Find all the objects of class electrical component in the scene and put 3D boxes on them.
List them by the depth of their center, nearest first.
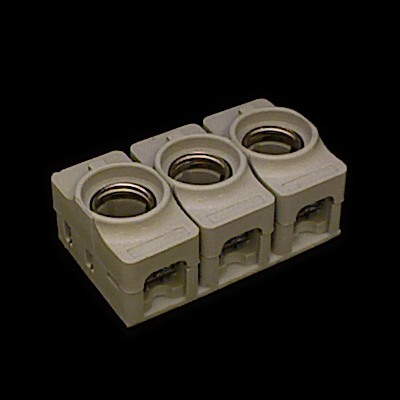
[{"bbox_3d":[0.000,0.000,0.637,0.150,0.063,0.088,-22,46,-24],"label":"electrical component"}]
